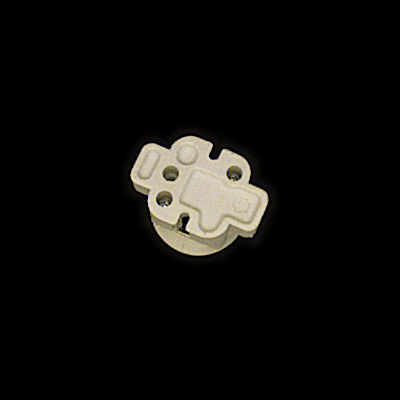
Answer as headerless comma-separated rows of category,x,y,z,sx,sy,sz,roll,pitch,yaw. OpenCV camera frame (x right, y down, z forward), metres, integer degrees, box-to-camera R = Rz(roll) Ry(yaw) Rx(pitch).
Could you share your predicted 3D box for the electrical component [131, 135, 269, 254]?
electrical component,0.000,0.000,0.636,0.078,0.058,0.056,22,-16,5
